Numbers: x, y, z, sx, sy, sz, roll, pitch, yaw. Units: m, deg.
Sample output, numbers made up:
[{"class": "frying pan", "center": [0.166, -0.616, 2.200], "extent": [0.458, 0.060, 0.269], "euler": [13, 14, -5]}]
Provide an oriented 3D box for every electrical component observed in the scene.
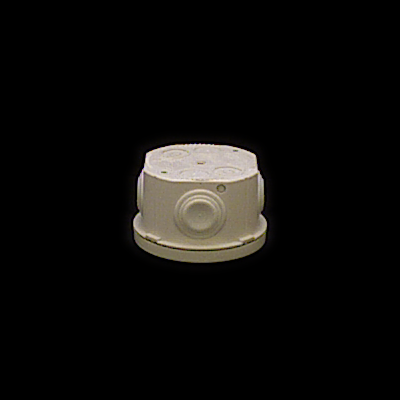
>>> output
[{"class": "electrical component", "center": [0.000, 0.000, 0.640], "extent": [0.080, 0.051, 0.079], "euler": [1, 21, 0]}]
